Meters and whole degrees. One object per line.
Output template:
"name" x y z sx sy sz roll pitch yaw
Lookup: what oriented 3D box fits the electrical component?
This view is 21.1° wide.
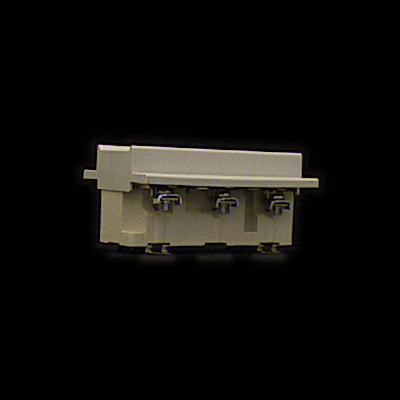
"electrical component" 0.000 0.000 0.662 0.122 0.063 0.078 1 2 -32
